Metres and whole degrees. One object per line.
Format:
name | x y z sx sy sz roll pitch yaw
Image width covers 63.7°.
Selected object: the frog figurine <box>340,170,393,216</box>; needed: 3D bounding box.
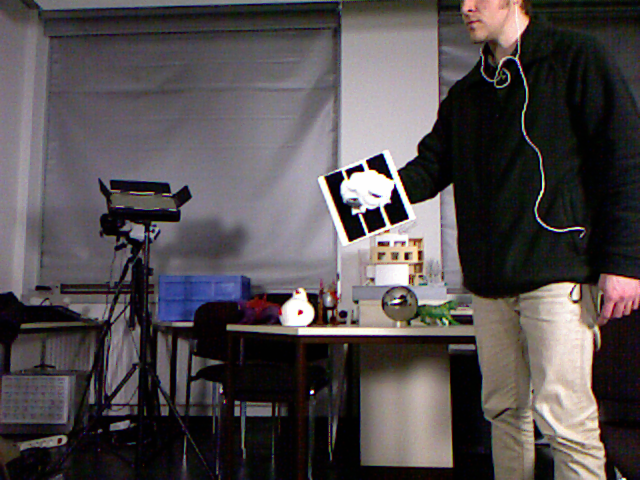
frog figurine | 0.117 -0.131 1.312 0.137 0.124 0.158 1 -12 5
